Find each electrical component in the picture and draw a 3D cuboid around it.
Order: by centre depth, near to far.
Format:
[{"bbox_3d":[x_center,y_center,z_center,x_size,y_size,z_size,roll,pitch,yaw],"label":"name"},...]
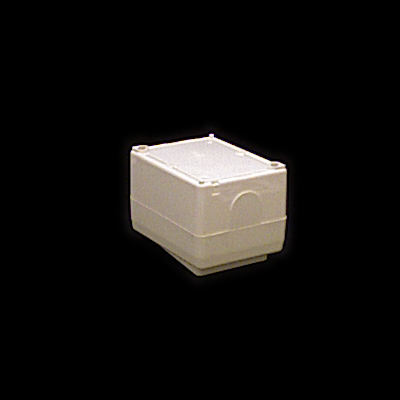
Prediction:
[{"bbox_3d":[0.000,0.000,0.642,0.061,0.061,0.095,-12,24,-31],"label":"electrical component"}]
